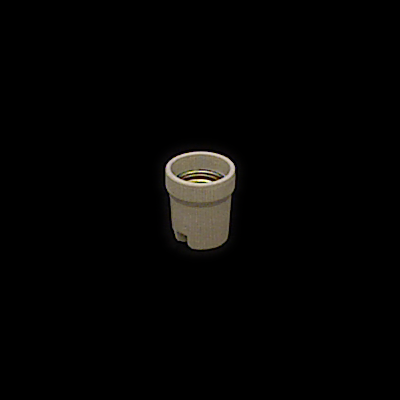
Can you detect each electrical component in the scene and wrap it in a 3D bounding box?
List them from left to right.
[{"bbox_3d":[0.000,0.000,0.636,0.040,0.047,0.039,1,32,0],"label":"electrical component"}]
